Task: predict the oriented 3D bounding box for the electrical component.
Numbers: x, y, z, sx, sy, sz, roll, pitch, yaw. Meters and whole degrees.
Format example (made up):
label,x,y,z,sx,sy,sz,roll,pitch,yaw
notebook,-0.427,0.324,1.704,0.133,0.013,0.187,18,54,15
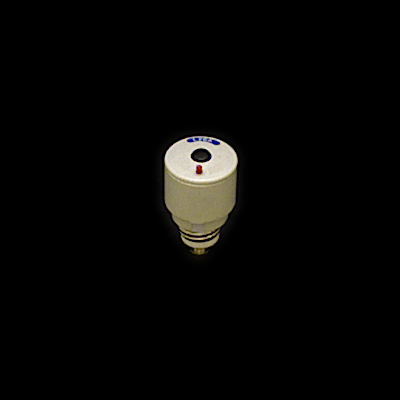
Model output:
label,x,y,z,sx,sy,sz,roll,pitch,yaw
electrical component,0.000,0.000,0.622,0.040,0.079,0.039,1,42,0
